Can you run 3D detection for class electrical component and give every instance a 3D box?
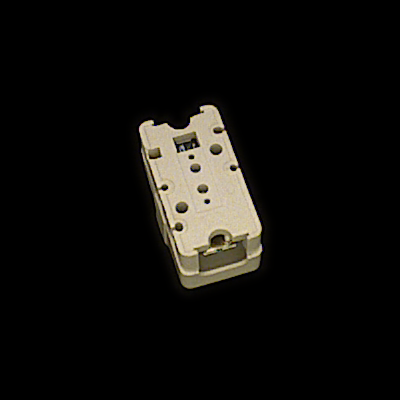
[{"bbox_3d":[0.000,0.000,0.636,0.050,0.089,0.055,-16,-26,-7],"label":"electrical component"}]
